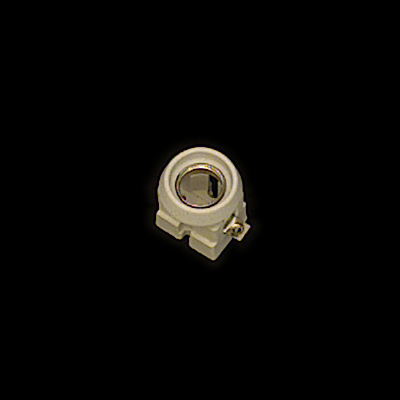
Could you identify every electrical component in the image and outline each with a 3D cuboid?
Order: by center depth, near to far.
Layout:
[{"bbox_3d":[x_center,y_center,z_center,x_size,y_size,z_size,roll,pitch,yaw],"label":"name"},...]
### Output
[{"bbox_3d":[0.000,0.000,0.637,0.066,0.048,0.055,30,-21,14],"label":"electrical component"}]
